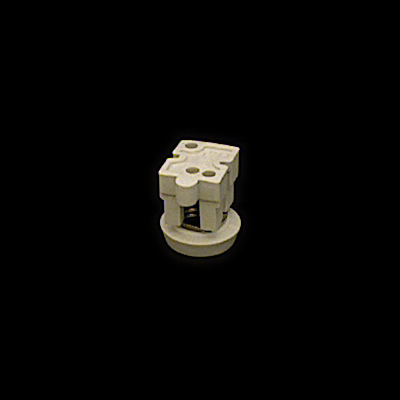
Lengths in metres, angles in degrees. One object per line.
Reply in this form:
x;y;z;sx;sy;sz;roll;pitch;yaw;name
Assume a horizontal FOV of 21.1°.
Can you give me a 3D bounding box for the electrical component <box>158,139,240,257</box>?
0.000;0.000;0.642;0.048;0.056;0.066;9;32;15;electrical component
